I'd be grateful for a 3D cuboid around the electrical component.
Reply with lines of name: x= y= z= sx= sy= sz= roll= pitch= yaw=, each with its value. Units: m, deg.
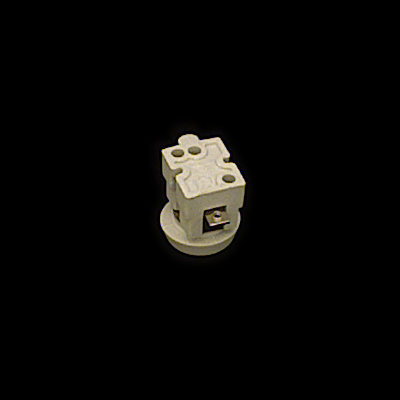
electrical component: x=0.000 y=0.000 z=0.641 sx=0.049 sy=0.056 sz=0.065 roll=-13 pitch=45 yaw=-16
